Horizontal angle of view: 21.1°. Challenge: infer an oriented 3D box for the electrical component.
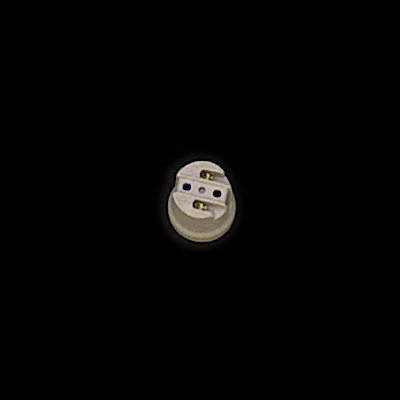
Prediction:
[{"bbox_3d":[0.000,0.000,0.633,0.040,0.040,0.046,0,-16,1],"label":"electrical component"}]
